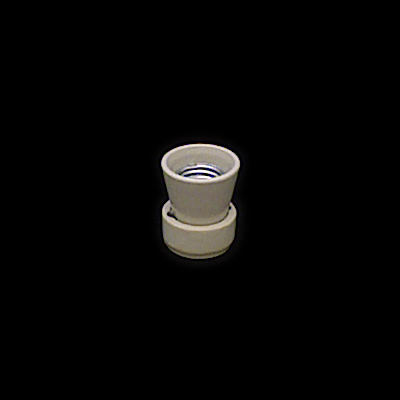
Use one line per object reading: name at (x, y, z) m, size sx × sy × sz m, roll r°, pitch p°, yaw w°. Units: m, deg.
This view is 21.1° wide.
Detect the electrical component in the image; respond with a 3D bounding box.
electrical component at (0.000, 0.000, 0.635) m, size 0.045 × 0.056 × 0.044 m, roll 1°, pitch 32°, yaw 0°
